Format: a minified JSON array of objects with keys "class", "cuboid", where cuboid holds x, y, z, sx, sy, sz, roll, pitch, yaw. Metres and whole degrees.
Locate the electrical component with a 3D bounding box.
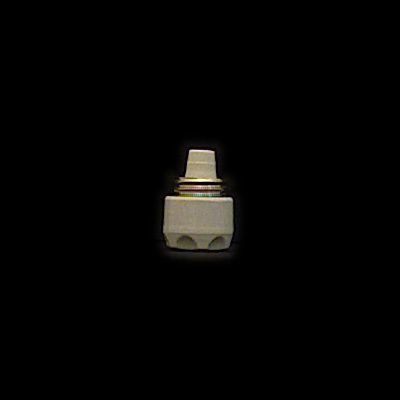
[{"class":"electrical component","cuboid":[0.000,0.000,0.656,0.043,0.062,0.043,2,3,0]}]
